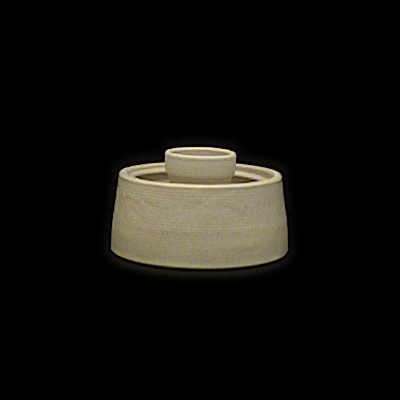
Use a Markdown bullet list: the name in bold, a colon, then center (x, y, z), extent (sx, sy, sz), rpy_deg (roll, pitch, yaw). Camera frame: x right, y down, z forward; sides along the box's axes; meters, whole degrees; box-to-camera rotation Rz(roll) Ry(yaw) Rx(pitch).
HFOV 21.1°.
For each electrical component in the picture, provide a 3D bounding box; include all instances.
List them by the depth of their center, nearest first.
- **electrical component**: center (0.000, 0.000, 0.650), extent (0.108, 0.061, 0.107), rpy_deg (1, 11, 0)
